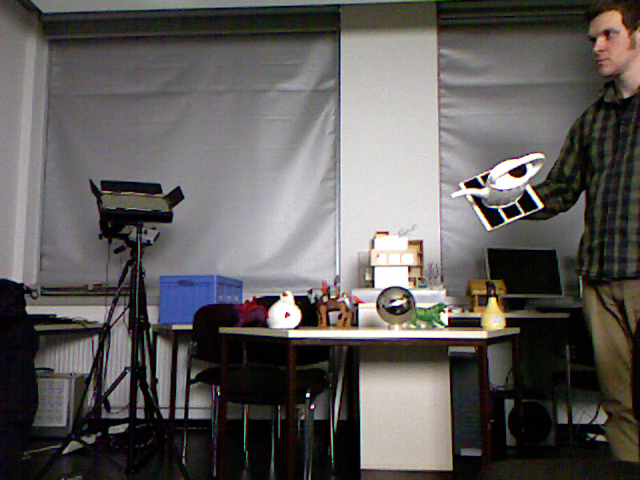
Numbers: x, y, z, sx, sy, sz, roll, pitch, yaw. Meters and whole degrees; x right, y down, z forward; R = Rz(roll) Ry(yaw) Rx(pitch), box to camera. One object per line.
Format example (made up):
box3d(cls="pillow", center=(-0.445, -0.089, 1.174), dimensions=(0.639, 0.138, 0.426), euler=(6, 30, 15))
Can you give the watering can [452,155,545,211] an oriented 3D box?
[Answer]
box3d(cls="watering can", center=(0.575, -0.173, 1.692), dimensions=(0.348, 0.106, 0.220), euler=(-24, -28, -6))
